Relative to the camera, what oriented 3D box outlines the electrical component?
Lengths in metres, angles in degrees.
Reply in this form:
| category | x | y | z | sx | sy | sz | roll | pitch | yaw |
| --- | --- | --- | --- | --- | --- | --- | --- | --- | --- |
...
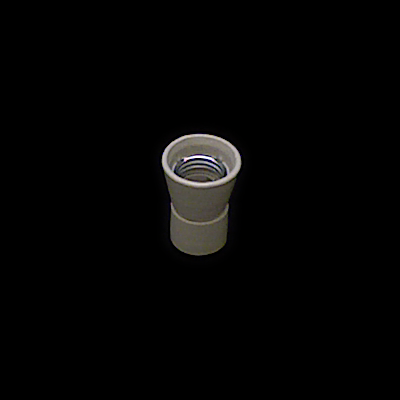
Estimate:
| category | x | y | z | sx | sy | sz | roll | pitch | yaw |
| --- | --- | --- | --- | --- | --- | --- | --- | --- | --- |
| electrical component | 0.000 | 0.000 | 0.628 | 0.044 | 0.066 | 0.044 | 1 | 42 | -1 |
